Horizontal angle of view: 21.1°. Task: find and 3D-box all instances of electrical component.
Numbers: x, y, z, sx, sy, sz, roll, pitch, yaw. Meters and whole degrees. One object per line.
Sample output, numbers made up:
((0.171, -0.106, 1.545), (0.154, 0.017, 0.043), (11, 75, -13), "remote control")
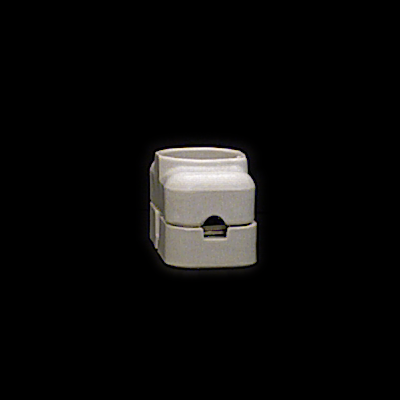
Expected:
((0.000, 0.000, 0.651), (0.054, 0.060, 0.094), (-2, 12, -10), "electrical component")
